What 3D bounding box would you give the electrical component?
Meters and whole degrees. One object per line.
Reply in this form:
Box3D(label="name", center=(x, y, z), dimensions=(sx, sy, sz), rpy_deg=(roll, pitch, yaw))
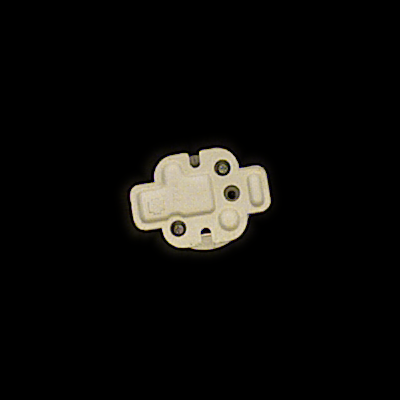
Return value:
Box3D(label="electrical component", center=(0.000, 0.000, 0.637), dimensions=(0.078, 0.058, 0.057), rpy_deg=(-10, -5, 1))
